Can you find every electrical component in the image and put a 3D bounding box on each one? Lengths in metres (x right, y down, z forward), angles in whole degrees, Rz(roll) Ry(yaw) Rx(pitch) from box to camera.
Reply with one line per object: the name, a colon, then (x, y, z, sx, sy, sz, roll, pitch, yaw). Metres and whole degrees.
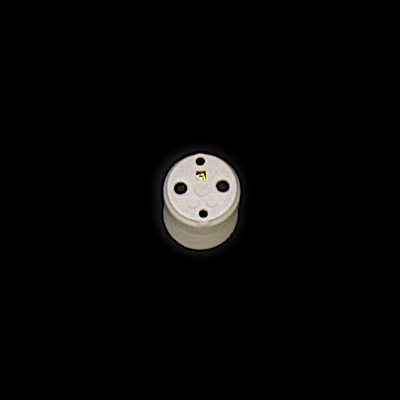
electrical component: (0.000, 0.000, 0.629, 0.045, 0.045, 0.055, 0, -16, 0)
